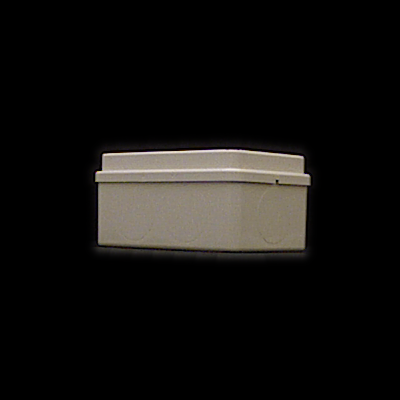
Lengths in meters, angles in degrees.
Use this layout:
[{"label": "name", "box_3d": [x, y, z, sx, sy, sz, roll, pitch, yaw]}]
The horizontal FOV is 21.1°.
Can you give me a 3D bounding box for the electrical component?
[{"label": "electrical component", "box_3d": [0.000, 0.000, 0.651, 0.113, 0.057, 0.078, 1, 0, 40]}]
